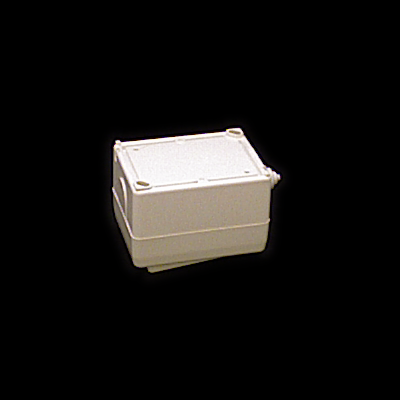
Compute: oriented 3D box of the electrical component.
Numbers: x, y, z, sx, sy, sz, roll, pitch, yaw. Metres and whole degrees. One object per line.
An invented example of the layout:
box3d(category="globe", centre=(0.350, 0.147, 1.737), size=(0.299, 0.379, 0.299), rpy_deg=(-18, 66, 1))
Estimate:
box3d(category="electrical component", centre=(0.000, 0.000, 0.633), size=(0.096, 0.061, 0.061), rpy_deg=(-7, 32, -14))
